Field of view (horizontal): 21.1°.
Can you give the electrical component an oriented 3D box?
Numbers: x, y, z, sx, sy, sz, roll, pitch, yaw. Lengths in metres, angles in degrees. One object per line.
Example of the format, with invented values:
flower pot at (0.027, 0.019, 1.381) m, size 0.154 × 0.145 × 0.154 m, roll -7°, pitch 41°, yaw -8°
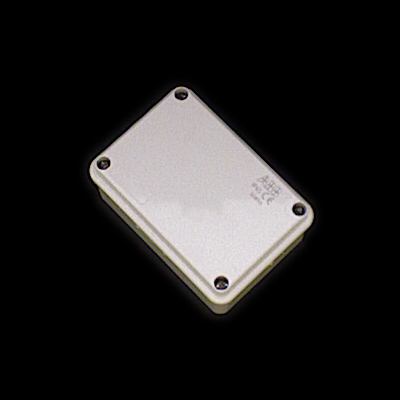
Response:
electrical component at (0.000, 0.000, 0.627) m, size 0.078 × 0.113 × 0.057 m, roll -43°, pitch -12°, yaw -11°
